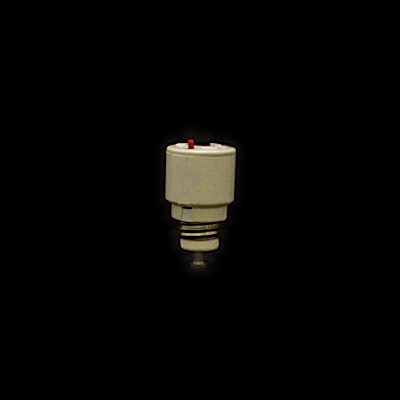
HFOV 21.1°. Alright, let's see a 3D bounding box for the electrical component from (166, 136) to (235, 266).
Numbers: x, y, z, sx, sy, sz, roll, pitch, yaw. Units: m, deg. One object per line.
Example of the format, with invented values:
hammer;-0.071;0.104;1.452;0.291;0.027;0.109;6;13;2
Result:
electrical component;0.000;0.000;0.640;0.040;0.079;0.040;1;12;0
